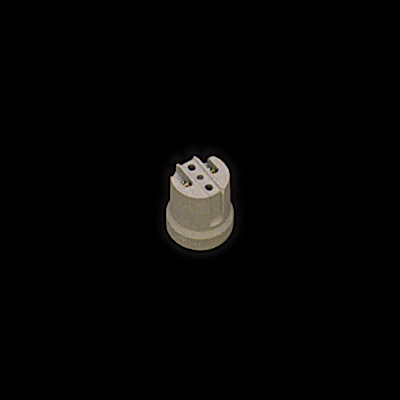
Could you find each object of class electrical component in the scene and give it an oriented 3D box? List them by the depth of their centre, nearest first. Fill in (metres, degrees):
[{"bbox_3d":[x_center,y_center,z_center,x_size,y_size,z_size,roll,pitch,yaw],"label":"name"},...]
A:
[{"bbox_3d":[0.000,0.000,0.635,0.040,0.040,0.046,0,-37,-1],"label":"electrical component"}]
